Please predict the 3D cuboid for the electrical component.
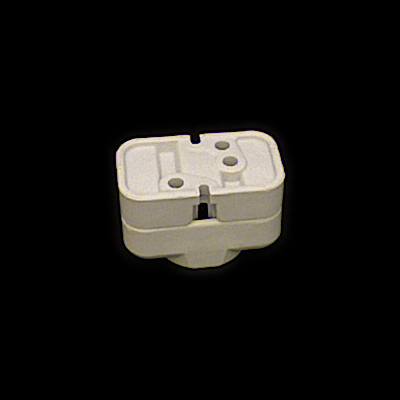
[{"bbox_3d":[0.000,0.000,0.640,0.095,0.060,0.053,-5,43,-6],"label":"electrical component"}]
